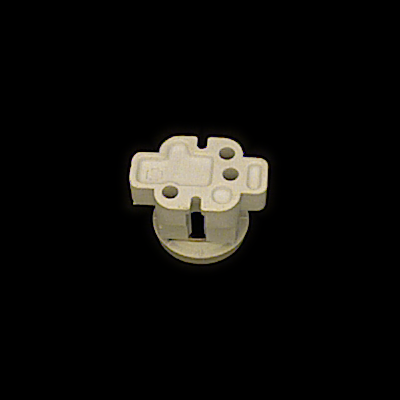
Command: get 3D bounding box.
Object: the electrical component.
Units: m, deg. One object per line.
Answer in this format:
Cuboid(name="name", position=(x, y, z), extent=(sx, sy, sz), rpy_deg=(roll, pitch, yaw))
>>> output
Cuboid(name="electrical component", position=(0.000, 0.000, 0.636), extent=(0.078, 0.057, 0.057), rpy_deg=(2, -36, 3))
